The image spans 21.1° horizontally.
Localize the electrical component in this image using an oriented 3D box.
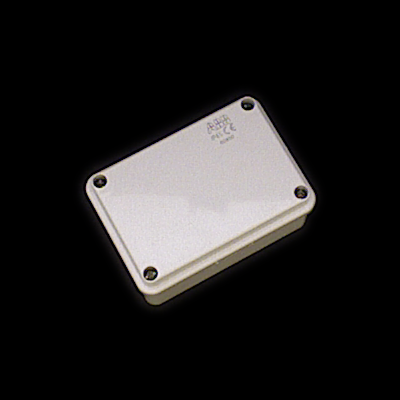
[{"bbox_3d":[0.000,0.000,0.627,0.113,0.078,0.057,-28,-15,-8],"label":"electrical component"}]
